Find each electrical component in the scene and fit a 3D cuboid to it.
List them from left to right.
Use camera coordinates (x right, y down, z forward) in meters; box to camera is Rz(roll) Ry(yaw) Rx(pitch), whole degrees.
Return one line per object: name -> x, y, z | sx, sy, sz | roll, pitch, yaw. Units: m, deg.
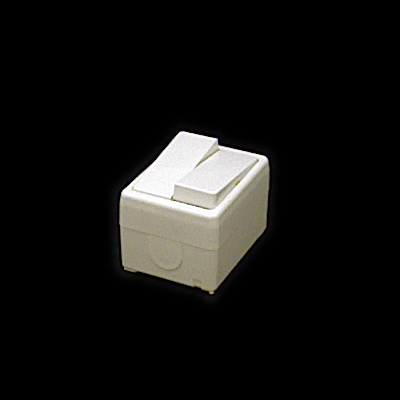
electrical component -> 0.000, 0.000, 0.636 | 0.061, 0.061, 0.095 | 15, 34, 22
